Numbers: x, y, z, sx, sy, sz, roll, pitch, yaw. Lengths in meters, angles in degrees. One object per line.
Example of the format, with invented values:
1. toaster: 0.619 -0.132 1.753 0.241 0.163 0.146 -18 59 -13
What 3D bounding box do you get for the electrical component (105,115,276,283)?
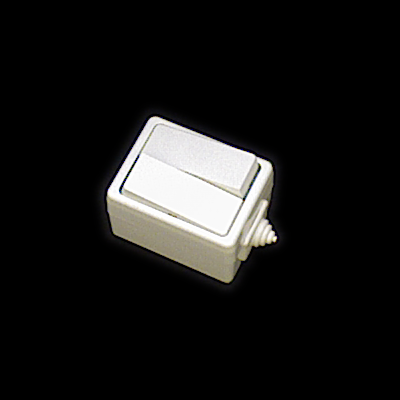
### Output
1. electrical component: 0.000 0.000 0.626 0.096 0.062 0.061 23 -25 12
